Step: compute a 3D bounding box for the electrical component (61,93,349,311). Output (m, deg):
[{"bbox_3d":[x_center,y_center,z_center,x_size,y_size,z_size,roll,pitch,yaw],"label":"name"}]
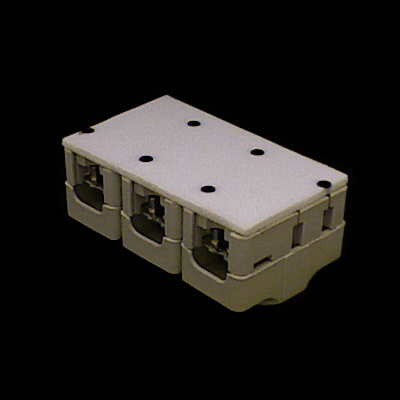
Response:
[{"bbox_3d":[0.000,0.000,0.640,0.148,0.063,0.088,28,41,36],"label":"electrical component"}]
